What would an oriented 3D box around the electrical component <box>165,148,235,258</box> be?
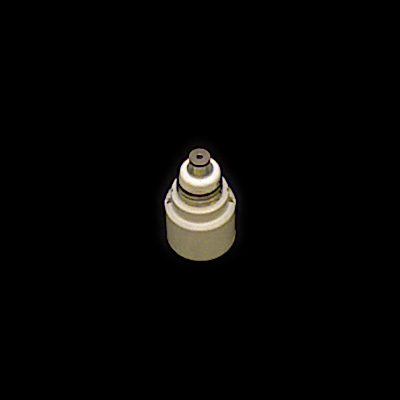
[{"bbox_3d":[0.000,0.000,0.621,0.040,0.040,0.079,0,-37,1],"label":"electrical component"}]
